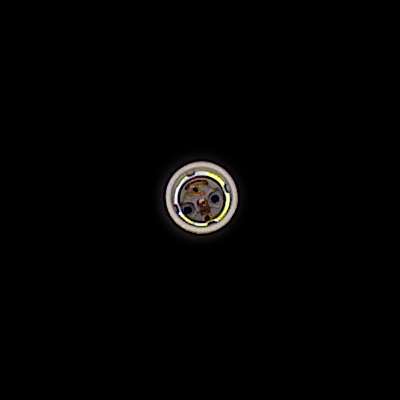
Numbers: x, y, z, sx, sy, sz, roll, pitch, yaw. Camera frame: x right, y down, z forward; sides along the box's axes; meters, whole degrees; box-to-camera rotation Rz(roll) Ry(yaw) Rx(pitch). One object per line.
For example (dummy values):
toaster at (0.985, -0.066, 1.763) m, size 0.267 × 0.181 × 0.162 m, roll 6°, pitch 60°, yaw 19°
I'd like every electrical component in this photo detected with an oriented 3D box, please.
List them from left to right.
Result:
electrical component at (0.000, 0.000, 0.627) m, size 0.040 × 0.040 × 0.046 m, roll 0°, pitch -6°, yaw 0°
